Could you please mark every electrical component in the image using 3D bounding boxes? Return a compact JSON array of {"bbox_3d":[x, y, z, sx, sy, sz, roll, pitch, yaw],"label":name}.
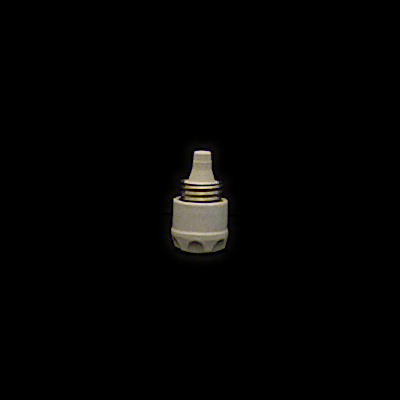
[{"bbox_3d":[0.000,0.000,0.657,0.035,0.062,0.035,3,12,0],"label":"electrical component"}]
